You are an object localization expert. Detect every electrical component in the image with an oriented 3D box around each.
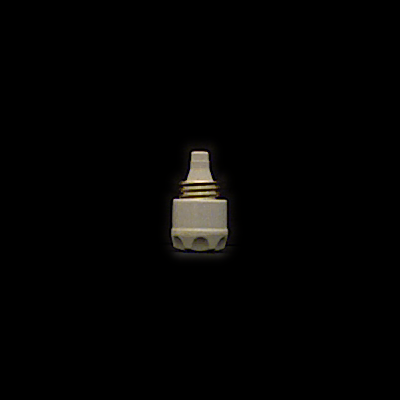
[{"bbox_3d":[0.000,0.000,0.662,0.035,0.061,0.035,0,3,0],"label":"electrical component"}]
